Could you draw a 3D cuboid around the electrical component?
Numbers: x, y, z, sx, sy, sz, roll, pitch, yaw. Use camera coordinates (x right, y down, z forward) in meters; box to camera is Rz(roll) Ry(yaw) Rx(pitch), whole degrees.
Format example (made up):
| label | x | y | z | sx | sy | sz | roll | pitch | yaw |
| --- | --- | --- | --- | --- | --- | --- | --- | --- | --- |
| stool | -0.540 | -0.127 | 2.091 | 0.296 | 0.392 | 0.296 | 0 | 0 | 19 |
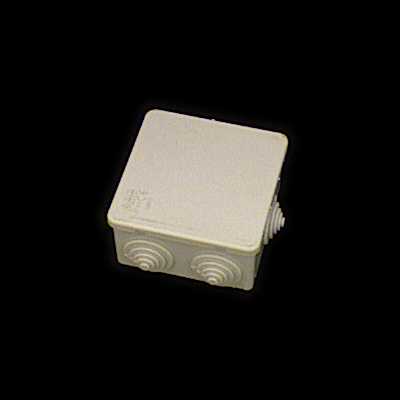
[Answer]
| label | x | y | z | sx | sy | sz | roll | pitch | yaw |
| --- | --- | --- | --- | --- | --- | --- | --- | --- | --- |
| electrical component | 0.000 | 0.000 | 0.639 | 0.099 | 0.100 | 0.048 | 12 | -36 | 8 |
